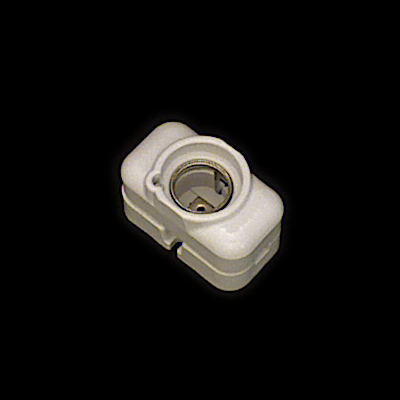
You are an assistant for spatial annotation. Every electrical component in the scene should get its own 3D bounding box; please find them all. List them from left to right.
[{"bbox_3d":[0.000,0.000,0.633,0.095,0.054,0.059,37,-21,17],"label":"electrical component"}]
